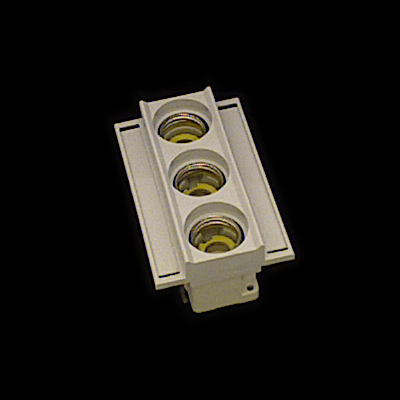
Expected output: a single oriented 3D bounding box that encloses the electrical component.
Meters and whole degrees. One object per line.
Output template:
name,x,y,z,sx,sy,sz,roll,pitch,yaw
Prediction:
electrical component,0.000,0.000,0.638,0.079,0.120,0.063,-12,-36,-7
